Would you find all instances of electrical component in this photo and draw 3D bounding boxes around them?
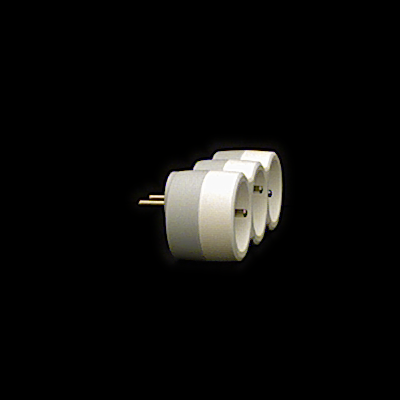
[{"bbox_3d":[0.000,0.000,0.654,0.073,0.052,0.138,3,11,15],"label":"electrical component"}]
